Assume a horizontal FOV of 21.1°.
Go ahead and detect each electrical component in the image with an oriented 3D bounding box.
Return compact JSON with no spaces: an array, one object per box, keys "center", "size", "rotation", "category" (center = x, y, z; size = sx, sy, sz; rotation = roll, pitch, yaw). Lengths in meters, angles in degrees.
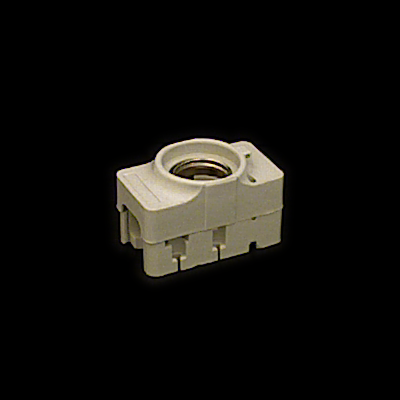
[{"center":[0.000,0.000,0.642],"size":[0.090,0.056,0.049],"rotation":[-15,36,-24],"category":"electrical component"}]
